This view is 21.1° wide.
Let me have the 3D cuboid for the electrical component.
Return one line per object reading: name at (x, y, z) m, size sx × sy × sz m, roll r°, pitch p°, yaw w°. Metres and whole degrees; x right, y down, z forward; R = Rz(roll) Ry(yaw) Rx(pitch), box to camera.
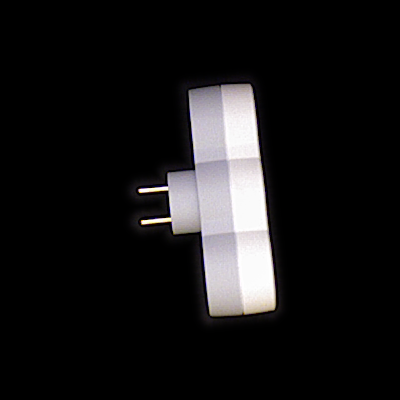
electrical component at (0.000, 0.000, 0.629) m, size 0.074 × 0.139 × 0.052 m, roll -6°, pitch -16°, yaw 1°
